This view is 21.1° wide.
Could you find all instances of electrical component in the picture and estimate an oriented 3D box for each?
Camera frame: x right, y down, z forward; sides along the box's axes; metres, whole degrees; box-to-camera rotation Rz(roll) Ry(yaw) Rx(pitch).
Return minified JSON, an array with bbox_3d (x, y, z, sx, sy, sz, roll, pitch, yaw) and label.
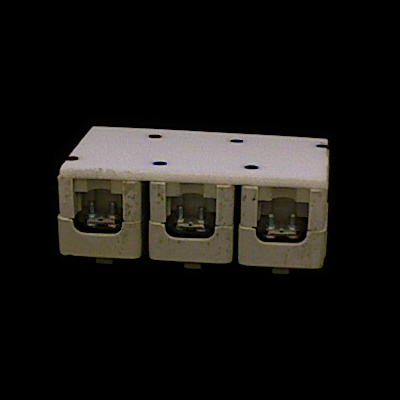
[{"bbox_3d":[0.000,0.000,0.643,0.150,0.063,0.088,3,20,6],"label":"electrical component"}]
